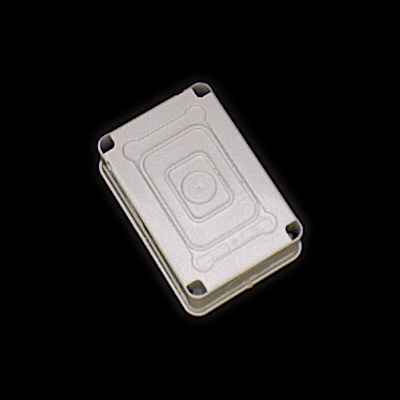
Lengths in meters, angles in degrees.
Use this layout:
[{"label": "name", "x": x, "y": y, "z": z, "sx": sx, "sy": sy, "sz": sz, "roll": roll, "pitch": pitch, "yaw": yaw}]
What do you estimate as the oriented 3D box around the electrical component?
[{"label": "electrical component", "x": 0.000, "y": 0.000, "z": 0.627, "sx": 0.078, "sy": 0.113, "sz": 0.057, "roll": -30, "pitch": -14, "yaw": -9}]
